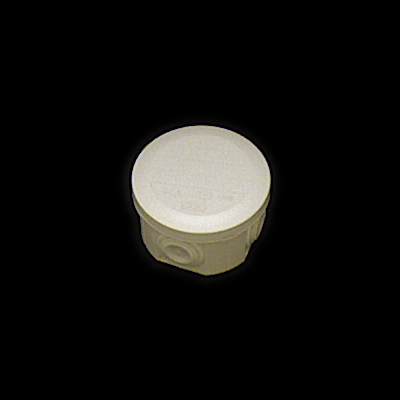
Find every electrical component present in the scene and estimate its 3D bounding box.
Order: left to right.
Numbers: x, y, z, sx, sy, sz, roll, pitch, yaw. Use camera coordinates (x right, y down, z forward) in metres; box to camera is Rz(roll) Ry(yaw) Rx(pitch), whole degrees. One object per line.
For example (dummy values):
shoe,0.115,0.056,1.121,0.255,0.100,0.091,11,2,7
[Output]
electrical component,0.000,0.000,0.631,0.080,0.080,0.051,0,-38,0
